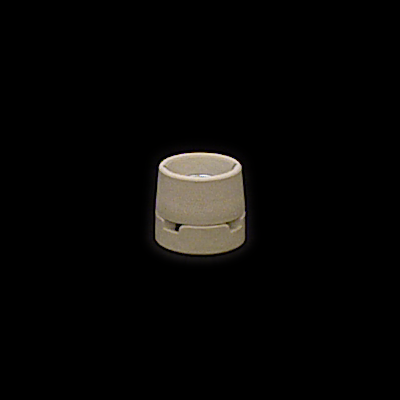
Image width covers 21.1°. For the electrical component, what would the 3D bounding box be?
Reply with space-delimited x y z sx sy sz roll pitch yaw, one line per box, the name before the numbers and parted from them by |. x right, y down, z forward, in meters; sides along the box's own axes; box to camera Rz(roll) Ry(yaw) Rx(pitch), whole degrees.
electrical component | 0.000 0.000 0.641 0.055 0.047 0.055 0 21 0
